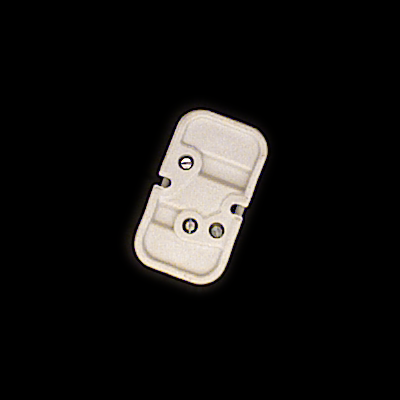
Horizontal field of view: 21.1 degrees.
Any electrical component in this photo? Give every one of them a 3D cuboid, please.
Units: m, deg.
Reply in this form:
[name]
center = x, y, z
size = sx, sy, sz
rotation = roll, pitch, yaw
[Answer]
[electrical component]
center = 0.000, 0.000, 0.637
size = 0.054, 0.095, 0.059
rotation = 20, -6, 3
